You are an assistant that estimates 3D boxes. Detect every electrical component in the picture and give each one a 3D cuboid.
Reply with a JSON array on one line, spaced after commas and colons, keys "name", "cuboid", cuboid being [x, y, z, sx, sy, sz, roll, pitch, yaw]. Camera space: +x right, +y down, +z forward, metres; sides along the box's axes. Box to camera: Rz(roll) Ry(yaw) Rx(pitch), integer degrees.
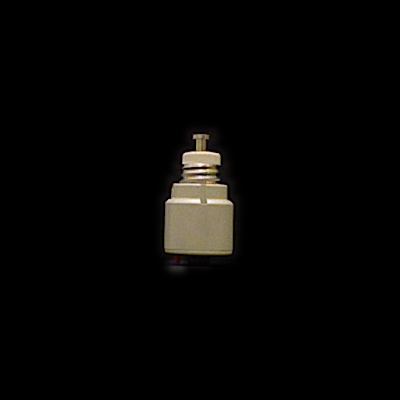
[{"name": "electrical component", "cuboid": [0.000, 0.000, 0.651, 0.040, 0.078, 0.040, 2, 2, 0]}]
